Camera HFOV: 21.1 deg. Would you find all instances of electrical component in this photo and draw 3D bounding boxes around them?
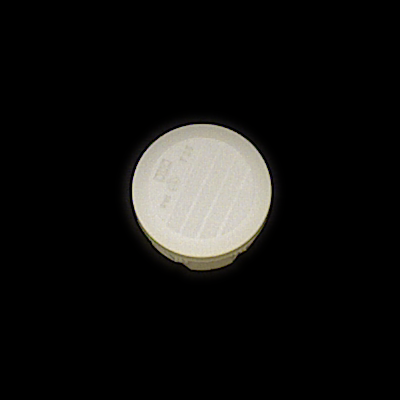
[{"bbox_3d":[0.000,0.000,0.631,0.080,0.080,0.050,0,-17,0],"label":"electrical component"}]
